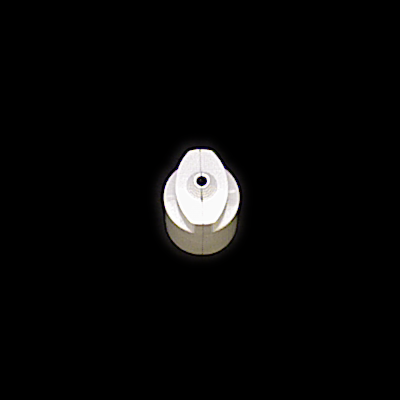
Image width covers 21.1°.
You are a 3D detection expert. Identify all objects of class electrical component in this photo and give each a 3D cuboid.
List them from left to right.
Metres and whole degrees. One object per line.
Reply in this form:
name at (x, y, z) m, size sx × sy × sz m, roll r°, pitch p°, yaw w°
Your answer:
electrical component at (0.000, 0.000, 0.616) m, size 0.043 × 0.043 × 0.080 m, roll 0°, pitch -17°, yaw 0°
